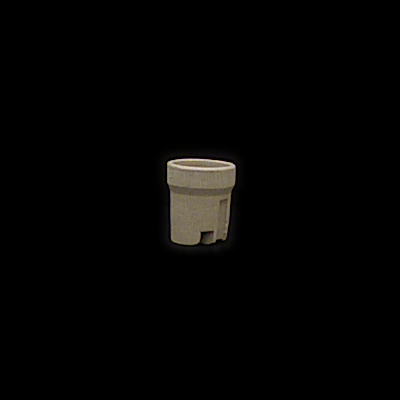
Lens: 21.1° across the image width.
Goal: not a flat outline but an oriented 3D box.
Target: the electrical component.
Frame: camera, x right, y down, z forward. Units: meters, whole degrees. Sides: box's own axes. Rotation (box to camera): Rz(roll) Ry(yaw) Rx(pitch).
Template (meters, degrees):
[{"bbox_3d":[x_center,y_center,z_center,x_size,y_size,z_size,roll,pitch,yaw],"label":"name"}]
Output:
[{"bbox_3d":[0.000,0.000,0.643,0.040,0.046,0.040,1,11,0],"label":"electrical component"}]
